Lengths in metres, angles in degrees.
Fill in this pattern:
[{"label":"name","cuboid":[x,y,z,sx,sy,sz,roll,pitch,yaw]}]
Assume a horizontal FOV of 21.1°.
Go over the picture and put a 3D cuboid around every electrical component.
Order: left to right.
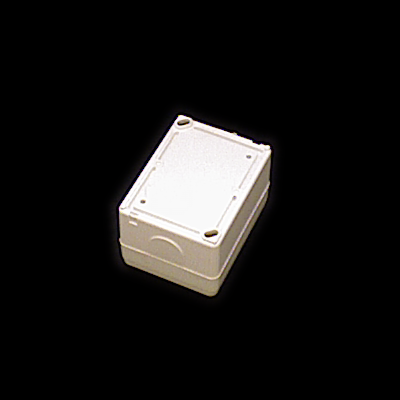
[{"label":"electrical component","cuboid":[0.000,0.000,0.629,0.061,0.096,0.061,20,-36,15]}]
